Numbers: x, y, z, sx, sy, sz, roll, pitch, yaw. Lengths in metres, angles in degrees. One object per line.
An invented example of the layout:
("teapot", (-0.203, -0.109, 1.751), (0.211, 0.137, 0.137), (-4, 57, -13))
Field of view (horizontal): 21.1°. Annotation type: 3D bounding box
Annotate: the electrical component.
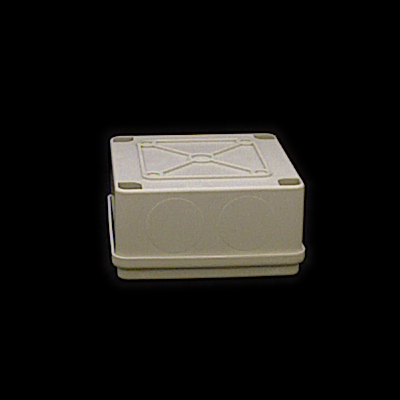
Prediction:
("electrical component", (0.000, 0.000, 0.639), (0.109, 0.057, 0.107), (-1, 20, -6))
